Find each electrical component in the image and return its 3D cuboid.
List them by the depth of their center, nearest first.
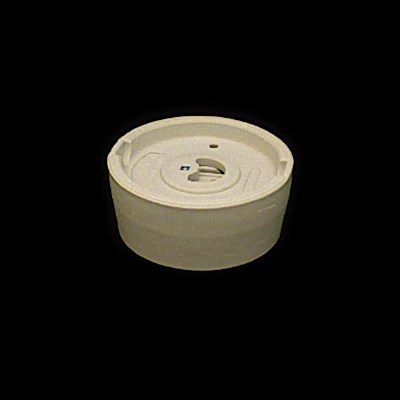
[{"bbox_3d":[0.000,0.000,0.639,0.108,0.061,0.106,2,32,0],"label":"electrical component"}]
